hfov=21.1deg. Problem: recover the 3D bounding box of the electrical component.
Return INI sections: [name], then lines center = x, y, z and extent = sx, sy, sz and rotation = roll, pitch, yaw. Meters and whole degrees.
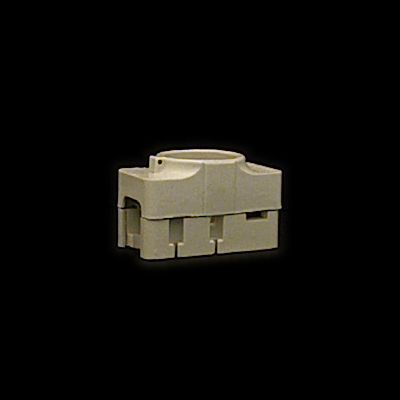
[electrical component]
center = 0.000, 0.000, 0.652
extent = 0.090, 0.056, 0.049
rotation = -4, 13, -28
